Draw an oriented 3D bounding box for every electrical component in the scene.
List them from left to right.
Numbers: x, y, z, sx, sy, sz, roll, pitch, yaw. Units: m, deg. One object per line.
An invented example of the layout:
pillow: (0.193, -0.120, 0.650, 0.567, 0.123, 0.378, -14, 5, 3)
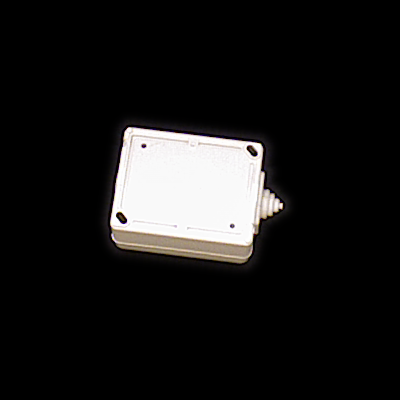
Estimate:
electrical component: (0.000, 0.000, 0.627, 0.096, 0.062, 0.060, 7, -17, 1)
